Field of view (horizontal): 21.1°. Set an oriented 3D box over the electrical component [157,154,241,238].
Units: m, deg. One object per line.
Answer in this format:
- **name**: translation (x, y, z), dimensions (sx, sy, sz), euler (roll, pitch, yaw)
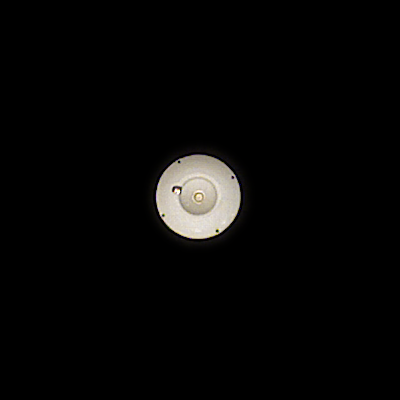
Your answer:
- **electrical component**: translation (0.000, 0.000, 0.634), dimensions (0.048, 0.048, 0.061), euler (0, -6, 1)
